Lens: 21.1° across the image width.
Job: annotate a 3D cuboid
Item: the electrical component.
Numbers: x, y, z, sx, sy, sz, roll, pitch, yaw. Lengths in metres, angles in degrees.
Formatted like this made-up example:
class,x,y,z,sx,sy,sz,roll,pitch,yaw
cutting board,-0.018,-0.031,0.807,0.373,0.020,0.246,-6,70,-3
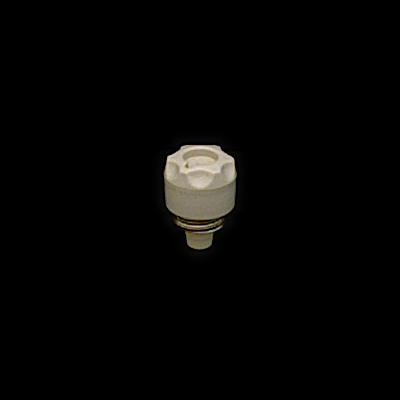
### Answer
class,x,y,z,sx,sy,sz,roll,pitch,yaw
electrical component,0.000,0.000,0.642,0.043,0.063,0.043,1,31,0
